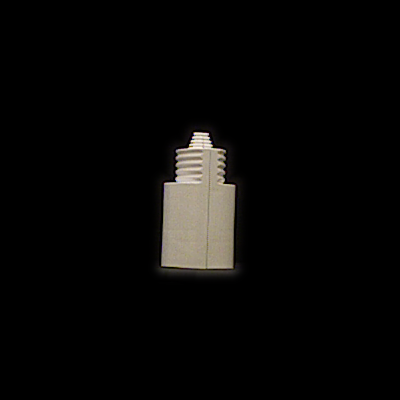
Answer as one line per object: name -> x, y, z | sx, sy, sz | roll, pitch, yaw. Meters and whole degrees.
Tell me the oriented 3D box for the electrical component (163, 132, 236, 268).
electrical component -> 0.000, 0.000, 0.649 | 0.043, 0.081, 0.043 | 1, 1, 0
